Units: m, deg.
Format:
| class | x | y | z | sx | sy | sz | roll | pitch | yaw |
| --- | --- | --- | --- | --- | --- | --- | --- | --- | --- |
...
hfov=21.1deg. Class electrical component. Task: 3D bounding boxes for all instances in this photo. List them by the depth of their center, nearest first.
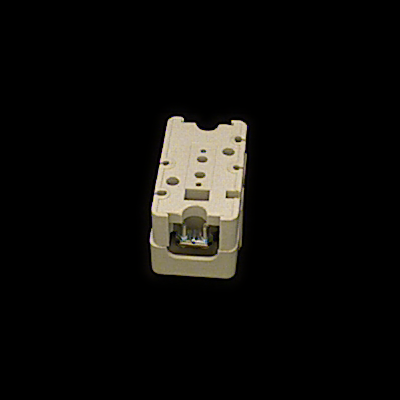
| class | x | y | z | sx | sy | sz | roll | pitch | yaw |
| --- | --- | --- | --- | --- | --- | --- | --- | --- | --- |
| electrical component | 0.000 | 0.000 | 0.639 | 0.050 | 0.056 | 0.089 | 4 | 43 | 3 |
